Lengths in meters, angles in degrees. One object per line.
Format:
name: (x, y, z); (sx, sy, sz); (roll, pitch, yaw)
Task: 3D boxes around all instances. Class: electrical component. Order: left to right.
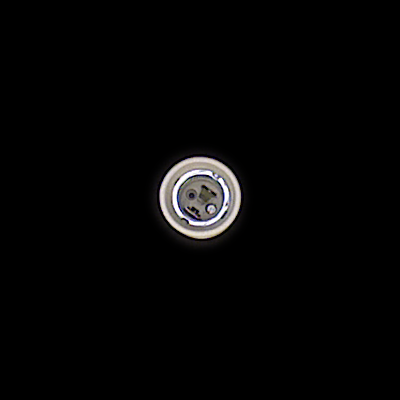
electrical component: (0.000, 0.000, 0.628); (0.045, 0.045, 0.055); (0, -6, 1)
